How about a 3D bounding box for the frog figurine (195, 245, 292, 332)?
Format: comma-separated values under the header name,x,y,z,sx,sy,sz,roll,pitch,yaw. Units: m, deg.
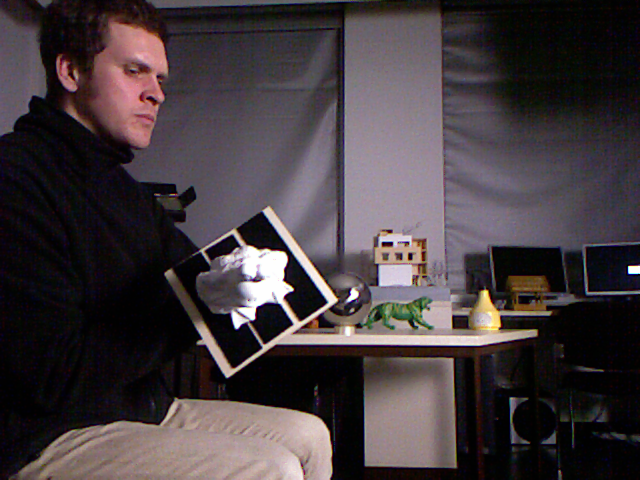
name,x,y,z,sx,sy,sz,roll,pitch,yaw
frog figurine,-0.114,0.054,0.737,0.138,0.125,0.157,-15,-25,0
